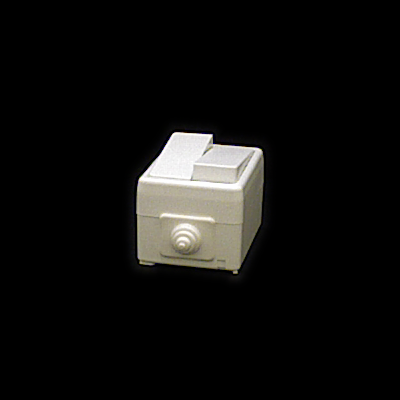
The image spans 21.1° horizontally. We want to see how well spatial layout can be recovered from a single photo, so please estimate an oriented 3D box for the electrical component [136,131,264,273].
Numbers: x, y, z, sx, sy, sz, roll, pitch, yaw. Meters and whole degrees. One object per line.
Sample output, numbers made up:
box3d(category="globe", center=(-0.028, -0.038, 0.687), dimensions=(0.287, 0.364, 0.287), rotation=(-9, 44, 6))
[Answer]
box3d(category="electrical component", center=(0.000, 0.000, 0.636), dimensions=(0.061, 0.061, 0.095), rotation=(5, 21, 11))
